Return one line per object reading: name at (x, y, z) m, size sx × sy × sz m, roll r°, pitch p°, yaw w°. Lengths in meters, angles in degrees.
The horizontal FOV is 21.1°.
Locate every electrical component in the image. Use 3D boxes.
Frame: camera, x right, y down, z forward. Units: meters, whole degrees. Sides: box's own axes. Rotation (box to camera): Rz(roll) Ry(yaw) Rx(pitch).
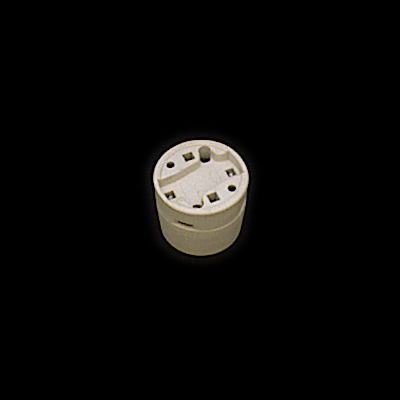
electrical component at (0.000, 0.000, 0.634) m, size 0.055 × 0.055 × 0.047 m, roll 0°, pitch -38°, yaw 0°
